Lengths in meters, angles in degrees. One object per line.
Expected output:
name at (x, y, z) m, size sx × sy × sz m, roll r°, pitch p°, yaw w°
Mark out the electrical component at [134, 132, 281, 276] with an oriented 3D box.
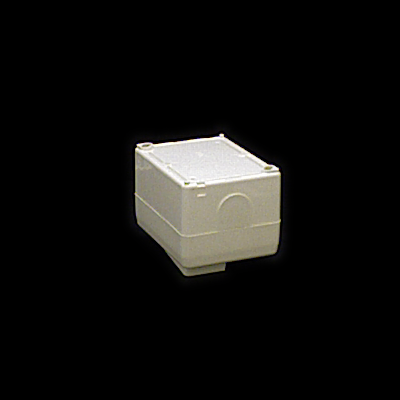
electrical component at (0.000, 0.000, 0.644) m, size 0.062 × 0.062 × 0.095 m, roll -9°, pitch 23°, yaw -23°
